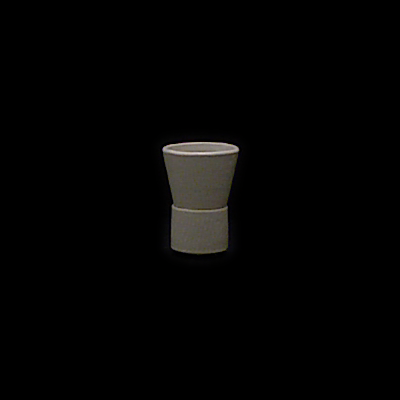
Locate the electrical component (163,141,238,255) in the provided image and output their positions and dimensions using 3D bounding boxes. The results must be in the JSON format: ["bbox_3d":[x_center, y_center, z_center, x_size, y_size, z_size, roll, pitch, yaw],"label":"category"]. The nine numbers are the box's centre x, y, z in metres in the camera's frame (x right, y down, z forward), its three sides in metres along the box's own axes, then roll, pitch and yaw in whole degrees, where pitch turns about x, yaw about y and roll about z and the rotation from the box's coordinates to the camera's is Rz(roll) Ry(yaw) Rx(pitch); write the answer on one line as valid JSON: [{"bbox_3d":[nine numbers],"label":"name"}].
[{"bbox_3d":[0.000,0.000,0.641,0.044,0.066,0.044,1,12,0],"label":"electrical component"}]
